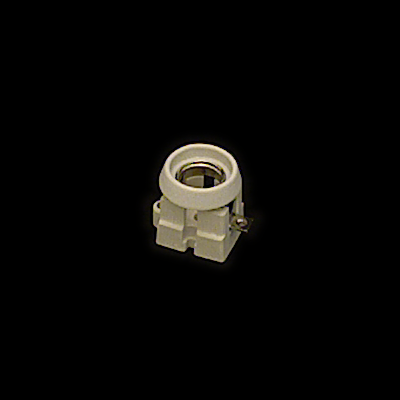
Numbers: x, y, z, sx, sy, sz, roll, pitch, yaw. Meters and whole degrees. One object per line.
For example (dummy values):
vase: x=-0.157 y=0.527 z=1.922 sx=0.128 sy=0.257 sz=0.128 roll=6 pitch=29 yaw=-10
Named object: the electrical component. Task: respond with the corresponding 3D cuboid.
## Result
electrical component: x=0.000 y=0.000 z=0.640 sx=0.066 sy=0.056 sz=0.048 roll=15 pitch=46 yaw=15
